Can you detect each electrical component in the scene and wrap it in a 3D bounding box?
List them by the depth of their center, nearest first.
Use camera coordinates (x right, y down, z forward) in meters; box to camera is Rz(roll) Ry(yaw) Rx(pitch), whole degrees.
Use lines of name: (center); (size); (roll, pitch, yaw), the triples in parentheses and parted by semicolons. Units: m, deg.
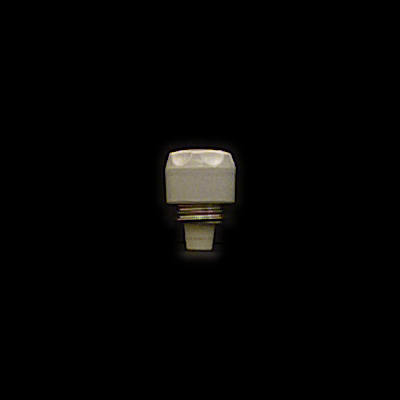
electrical component: (0.000, 0.000, 0.656); (0.043, 0.062, 0.043); (1, 1, 1)
